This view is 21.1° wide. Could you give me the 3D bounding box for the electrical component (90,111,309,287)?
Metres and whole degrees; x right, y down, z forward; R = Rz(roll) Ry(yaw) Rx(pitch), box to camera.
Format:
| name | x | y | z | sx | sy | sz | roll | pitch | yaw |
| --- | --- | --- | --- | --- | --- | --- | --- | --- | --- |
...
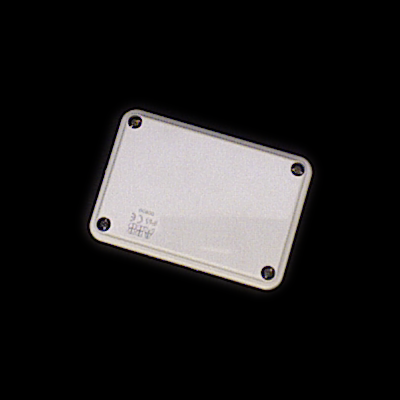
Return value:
| name | x | y | z | sx | sy | sz | roll | pitch | yaw |
| --- | --- | --- | --- | --- | --- | --- | --- | --- | --- |
| electrical component | 0.000 | 0.000 | 0.628 | 0.113 | 0.078 | 0.057 | 16 | -6 | 2 |
